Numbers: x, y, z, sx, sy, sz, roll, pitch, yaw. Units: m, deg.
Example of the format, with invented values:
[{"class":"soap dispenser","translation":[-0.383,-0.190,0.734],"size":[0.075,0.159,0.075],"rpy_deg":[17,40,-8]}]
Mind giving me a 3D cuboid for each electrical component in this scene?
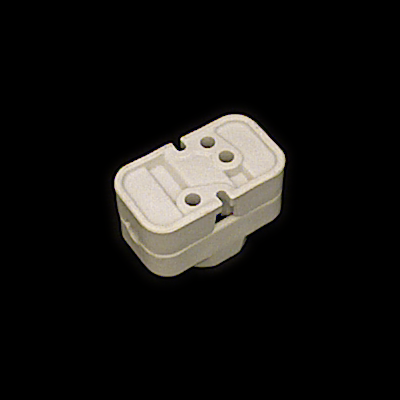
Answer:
[{"class":"electrical component","translation":[0.000,0.000,0.636],"size":[0.096,0.053,0.059],"rpy_deg":[-29,-32,-20]}]
